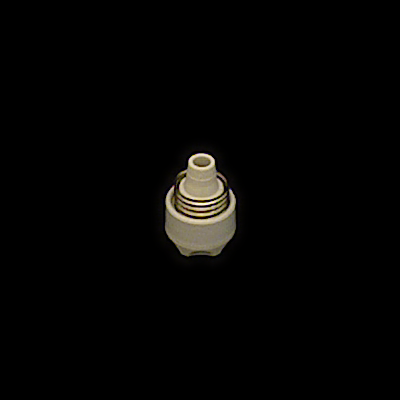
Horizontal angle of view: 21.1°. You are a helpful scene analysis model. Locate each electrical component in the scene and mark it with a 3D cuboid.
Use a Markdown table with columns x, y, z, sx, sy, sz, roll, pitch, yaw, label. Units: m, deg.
| x | y | z | sx | sy | sz | roll | pitch | yaw | label |
| --- | --- | --- | --- | --- | --- | --- | --- | --- | --- |
| 0.000 | 0.000 | 0.638 | 0.043 | 0.062 | 0.043 | 1 | 41 | 0 | electrical component |
